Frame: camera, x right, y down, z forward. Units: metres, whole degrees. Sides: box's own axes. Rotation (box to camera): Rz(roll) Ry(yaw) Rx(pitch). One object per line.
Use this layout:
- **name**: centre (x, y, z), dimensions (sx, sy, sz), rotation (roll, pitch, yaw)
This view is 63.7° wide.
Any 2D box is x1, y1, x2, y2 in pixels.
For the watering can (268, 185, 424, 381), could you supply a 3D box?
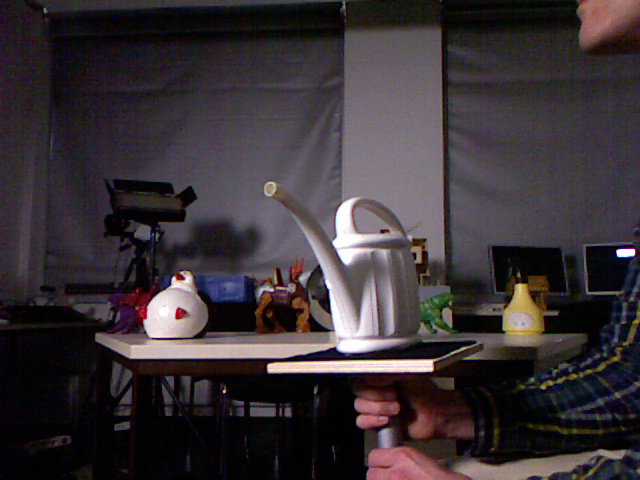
- **watering can**: centre (0.046, 0.052, 0.616), dimensions (0.105, 0.228, 0.351), rotation (-7, -8, 31)
